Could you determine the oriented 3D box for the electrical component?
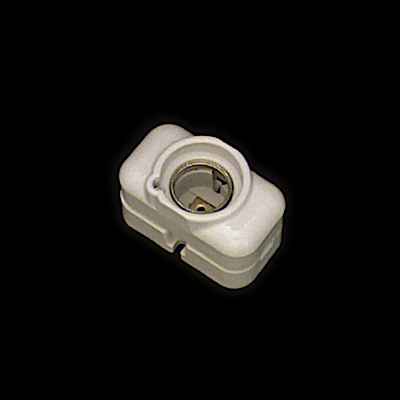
[{"bbox_3d":[0.000,0.000,0.633,0.095,0.054,0.059,32,-22,15],"label":"electrical component"}]
